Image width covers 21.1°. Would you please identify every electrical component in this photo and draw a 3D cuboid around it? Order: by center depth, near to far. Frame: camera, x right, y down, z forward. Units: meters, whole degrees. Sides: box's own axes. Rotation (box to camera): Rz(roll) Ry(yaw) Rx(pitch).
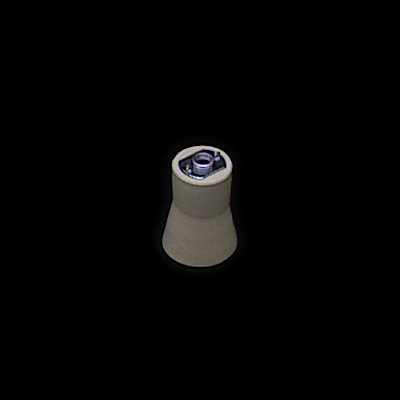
[{"bbox_3d":[0.000,0.000,0.628,0.044,0.066,0.044,1,42,-1],"label":"electrical component"}]
